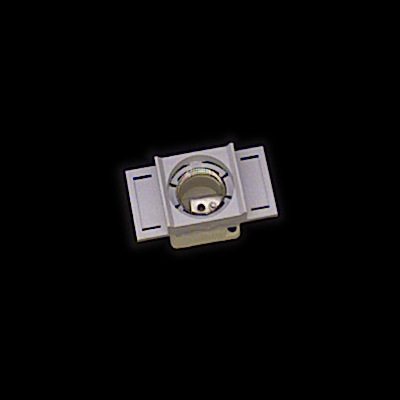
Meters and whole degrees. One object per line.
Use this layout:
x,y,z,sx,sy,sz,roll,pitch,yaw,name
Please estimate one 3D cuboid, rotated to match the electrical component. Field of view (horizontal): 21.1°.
0.000,0.000,0.624,0.081,0.042,0.063,-10,-18,-2,electrical component
